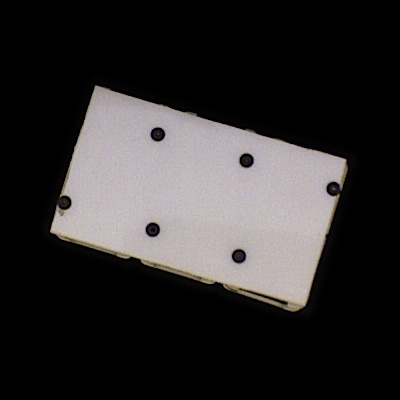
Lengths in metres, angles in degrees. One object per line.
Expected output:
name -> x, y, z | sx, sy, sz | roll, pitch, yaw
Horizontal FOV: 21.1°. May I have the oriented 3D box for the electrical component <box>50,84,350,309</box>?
electrical component -> 0.000, 0.000, 0.631 | 0.150, 0.089, 0.061 | 17, -6, 1
